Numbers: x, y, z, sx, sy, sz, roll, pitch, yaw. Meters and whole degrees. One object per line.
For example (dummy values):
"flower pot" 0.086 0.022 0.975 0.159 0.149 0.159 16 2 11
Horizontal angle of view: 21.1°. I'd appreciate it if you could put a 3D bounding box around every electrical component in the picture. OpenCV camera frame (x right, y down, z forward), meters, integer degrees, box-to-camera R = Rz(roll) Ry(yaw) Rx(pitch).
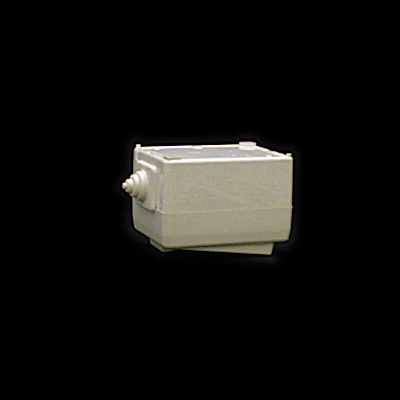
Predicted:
"electrical component" 0.000 0.000 0.639 0.096 0.061 0.061 -3 12 -22
